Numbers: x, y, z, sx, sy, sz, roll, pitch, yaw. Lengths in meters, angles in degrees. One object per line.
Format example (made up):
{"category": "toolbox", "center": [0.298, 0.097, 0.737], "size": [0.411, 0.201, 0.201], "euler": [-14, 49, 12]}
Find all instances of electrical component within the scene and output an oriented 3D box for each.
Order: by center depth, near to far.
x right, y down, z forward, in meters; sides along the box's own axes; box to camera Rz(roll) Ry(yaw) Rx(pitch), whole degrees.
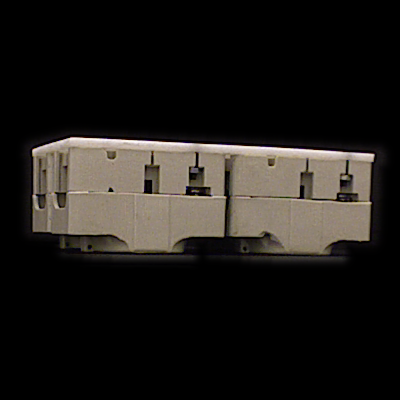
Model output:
{"category": "electrical component", "center": [0.000, 0.000, 0.649], "size": [0.187, 0.060, 0.105], "euler": [2, 0, -20]}
